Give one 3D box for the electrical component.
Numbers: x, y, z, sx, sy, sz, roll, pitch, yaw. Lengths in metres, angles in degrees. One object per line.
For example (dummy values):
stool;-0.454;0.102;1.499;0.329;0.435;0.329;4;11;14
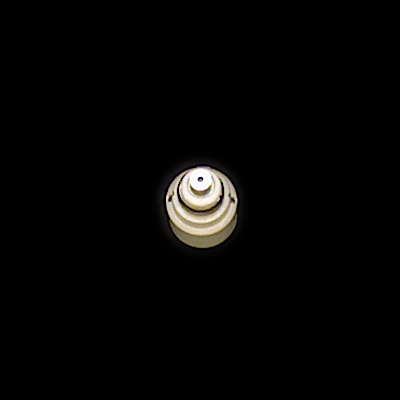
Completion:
electrical component;0.000;0.000;0.617;0.040;0.040;0.078;0;-16;1
